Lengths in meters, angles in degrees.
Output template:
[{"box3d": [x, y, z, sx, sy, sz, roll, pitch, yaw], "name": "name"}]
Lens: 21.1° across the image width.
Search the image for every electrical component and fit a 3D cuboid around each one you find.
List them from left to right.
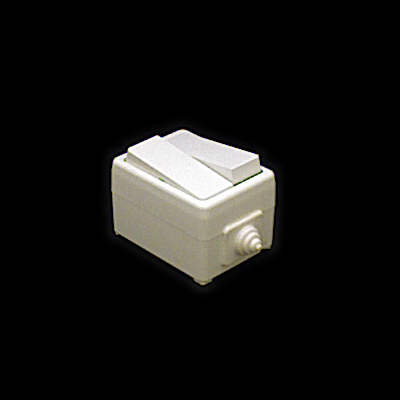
[{"box3d": [0.000, 0.000, 0.633, 0.061, 0.061, 0.095, -27, 40, -37], "name": "electrical component"}]
